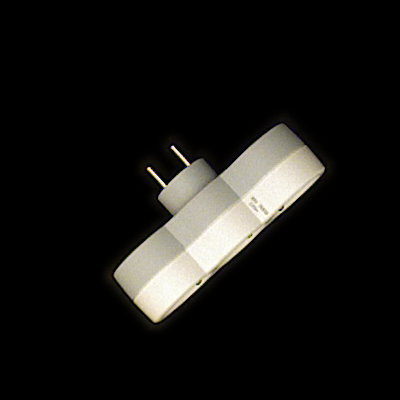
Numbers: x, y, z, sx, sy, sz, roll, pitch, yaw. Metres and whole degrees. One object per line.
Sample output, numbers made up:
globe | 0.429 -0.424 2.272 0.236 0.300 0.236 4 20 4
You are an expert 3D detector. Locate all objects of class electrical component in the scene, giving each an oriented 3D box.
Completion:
electrical component | 0.000 0.000 0.639 0.138 0.073 0.052 -42 -6 -4
